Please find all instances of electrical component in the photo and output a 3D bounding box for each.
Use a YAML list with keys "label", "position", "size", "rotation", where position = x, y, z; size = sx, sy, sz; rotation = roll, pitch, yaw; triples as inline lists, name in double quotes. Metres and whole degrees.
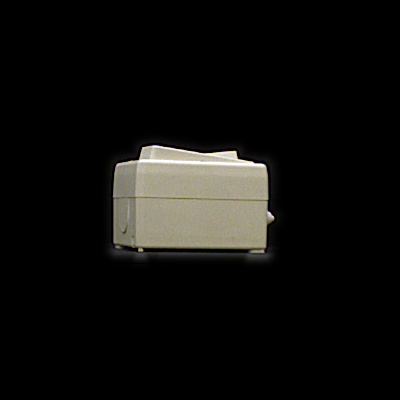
- label: "electrical component"
  position: [0.000, 0.000, 0.651]
  size: [0.096, 0.061, 0.061]
  rotation: [1, 0, -18]
